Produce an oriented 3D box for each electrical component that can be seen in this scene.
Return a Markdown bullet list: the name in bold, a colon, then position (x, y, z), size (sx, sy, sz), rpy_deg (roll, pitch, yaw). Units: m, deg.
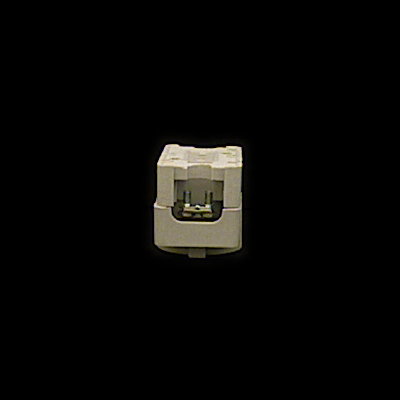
- **electrical component**: position (0.000, 0.000, 0.651), size (0.050, 0.056, 0.089), rpy_deg (2, 12, 1)
